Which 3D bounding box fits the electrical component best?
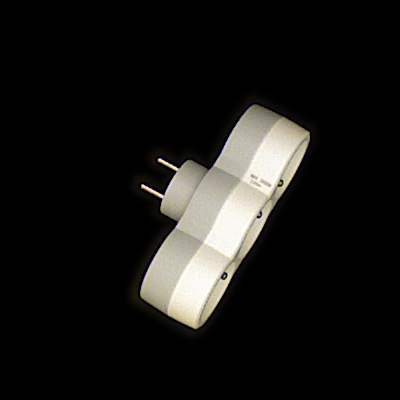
[{"bbox_3d":[0.000,0.000,0.638,0.073,0.139,0.052,29,-14,10],"label":"electrical component"}]
